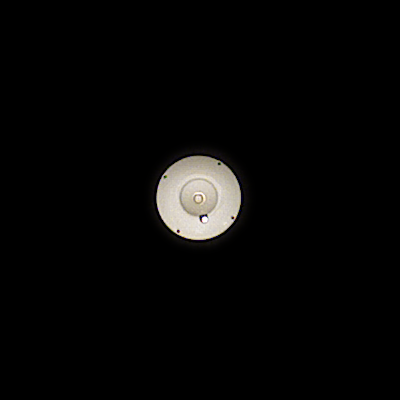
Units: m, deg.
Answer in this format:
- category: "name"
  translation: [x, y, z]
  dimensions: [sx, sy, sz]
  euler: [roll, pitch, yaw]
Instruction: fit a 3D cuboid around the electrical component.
- category: "electrical component"
  translation: [0.000, 0.000, 0.634]
  dimensions: [0.048, 0.048, 0.062]
  euler: [0, -5, 1]
